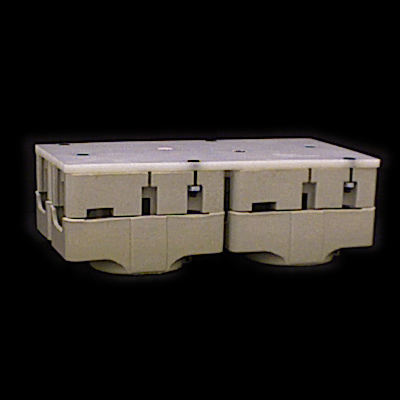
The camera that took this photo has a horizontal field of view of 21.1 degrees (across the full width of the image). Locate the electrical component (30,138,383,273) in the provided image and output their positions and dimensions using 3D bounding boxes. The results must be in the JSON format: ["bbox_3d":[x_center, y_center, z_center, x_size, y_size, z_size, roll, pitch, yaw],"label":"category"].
[{"bbox_3d":[0.000,0.000,0.644,0.186,0.060,0.104,-2,10,-18],"label":"electrical component"}]
